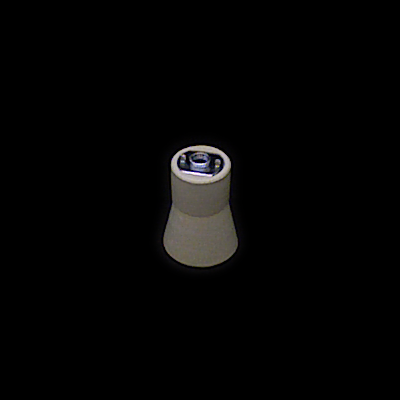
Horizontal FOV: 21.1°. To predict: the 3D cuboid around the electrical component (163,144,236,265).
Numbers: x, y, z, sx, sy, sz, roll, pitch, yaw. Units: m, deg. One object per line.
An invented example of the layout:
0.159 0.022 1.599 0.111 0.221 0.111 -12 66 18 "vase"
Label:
0.000 0.000 0.631 0.044 0.066 0.044 0 41 0 "electrical component"
